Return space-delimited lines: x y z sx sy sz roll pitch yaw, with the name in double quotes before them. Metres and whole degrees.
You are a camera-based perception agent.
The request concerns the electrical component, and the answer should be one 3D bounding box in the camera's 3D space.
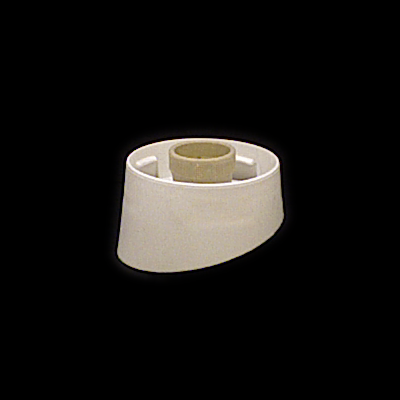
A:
"electrical component" 0.000 0.000 0.639 0.099 0.065 0.097 1 21 0
